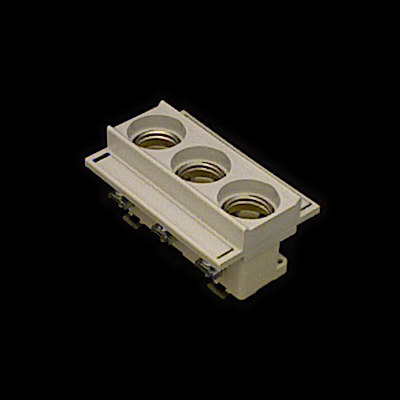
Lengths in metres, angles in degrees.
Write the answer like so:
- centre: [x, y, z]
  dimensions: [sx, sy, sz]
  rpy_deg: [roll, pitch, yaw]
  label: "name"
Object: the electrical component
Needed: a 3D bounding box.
- centre: [0.000, 0.000, 0.644]
  dimensions: [0.078, 0.064, 0.120]
  rpy_deg: [-30, 50, -30]
  label: "electrical component"
